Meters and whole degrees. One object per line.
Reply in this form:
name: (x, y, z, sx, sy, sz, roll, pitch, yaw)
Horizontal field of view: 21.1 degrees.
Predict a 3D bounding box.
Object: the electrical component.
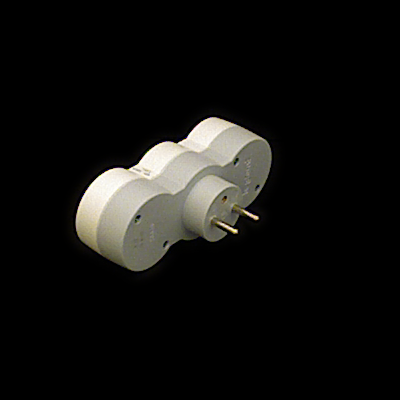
electrical component: (0.000, 0.000, 0.641, 0.073, 0.053, 0.138, 27, 40, 32)
